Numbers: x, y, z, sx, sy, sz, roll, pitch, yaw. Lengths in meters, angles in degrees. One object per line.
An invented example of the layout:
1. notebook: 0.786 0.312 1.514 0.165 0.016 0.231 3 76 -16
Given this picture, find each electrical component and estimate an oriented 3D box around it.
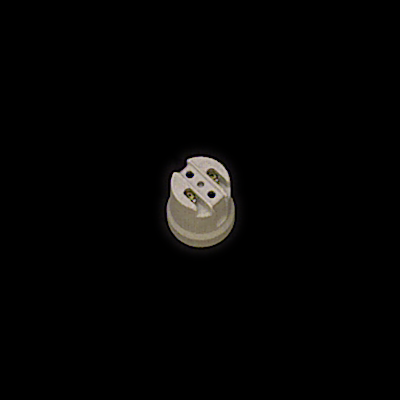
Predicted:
1. electrical component: 0.000 0.000 0.632 0.040 0.040 0.046 0 -27 0
